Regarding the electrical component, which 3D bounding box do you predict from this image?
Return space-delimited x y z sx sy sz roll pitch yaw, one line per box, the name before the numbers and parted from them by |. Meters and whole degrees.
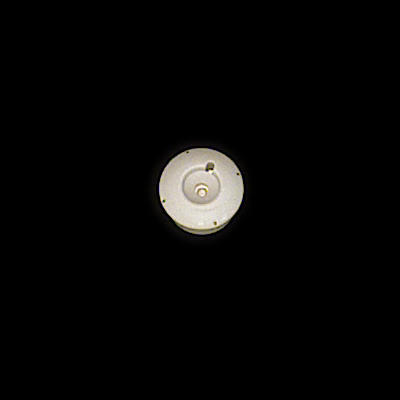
electrical component | 0.000 0.000 0.633 0.048 0.048 0.061 0 -16 1
